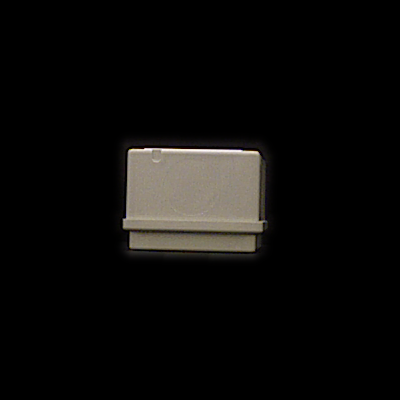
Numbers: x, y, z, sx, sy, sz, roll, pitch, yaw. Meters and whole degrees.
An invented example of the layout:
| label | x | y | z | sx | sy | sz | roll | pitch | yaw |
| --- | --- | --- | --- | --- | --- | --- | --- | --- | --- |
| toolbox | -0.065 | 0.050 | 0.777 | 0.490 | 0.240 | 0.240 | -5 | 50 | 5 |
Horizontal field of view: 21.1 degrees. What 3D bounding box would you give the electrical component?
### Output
| label | x | y | z | sx | sy | sz | roll | pitch | yaw |
| --- | --- | --- | --- | --- | --- | --- | --- | --- | --- |
| electrical component | 0.000 | 0.000 | 0.650 | 0.078 | 0.057 | 0.113 | 1 | 0 | 5 |
